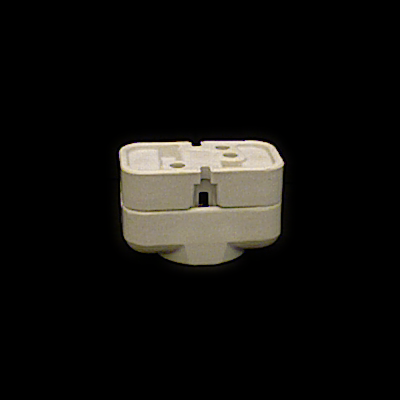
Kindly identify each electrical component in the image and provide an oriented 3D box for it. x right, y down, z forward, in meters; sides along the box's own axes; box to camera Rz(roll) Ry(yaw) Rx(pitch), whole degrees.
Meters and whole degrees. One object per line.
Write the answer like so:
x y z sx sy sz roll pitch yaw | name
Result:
0.000 0.000 0.647 0.095 0.060 0.053 -2 22 -7 | electrical component
